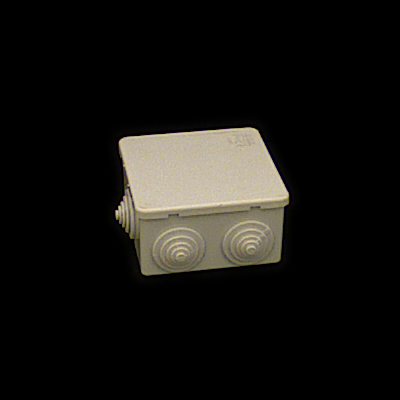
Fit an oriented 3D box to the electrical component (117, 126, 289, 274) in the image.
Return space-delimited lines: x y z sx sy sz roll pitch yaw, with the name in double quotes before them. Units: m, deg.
"electrical component" 0.000 0.000 0.646 0.100 0.049 0.098 -5 33 -10
